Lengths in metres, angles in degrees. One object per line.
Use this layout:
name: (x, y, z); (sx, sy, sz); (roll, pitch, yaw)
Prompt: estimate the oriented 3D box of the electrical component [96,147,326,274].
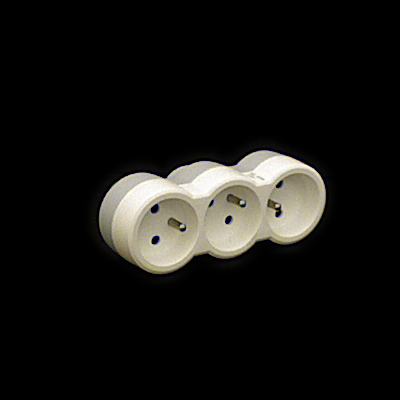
electrical component: (0.000, 0.000, 0.651); (0.139, 0.053, 0.072); (-12, 24, -30)
